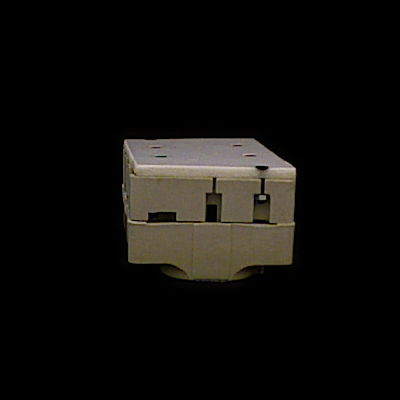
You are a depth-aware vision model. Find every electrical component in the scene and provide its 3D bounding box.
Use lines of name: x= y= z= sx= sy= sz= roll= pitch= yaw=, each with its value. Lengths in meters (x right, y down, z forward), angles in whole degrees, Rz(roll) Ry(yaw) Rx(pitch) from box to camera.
electrical component: x=0.000 y=0.000 z=0.648 sx=0.089 sy=0.062 sz=0.148 roll=0 pitch=10 yaw=-5
